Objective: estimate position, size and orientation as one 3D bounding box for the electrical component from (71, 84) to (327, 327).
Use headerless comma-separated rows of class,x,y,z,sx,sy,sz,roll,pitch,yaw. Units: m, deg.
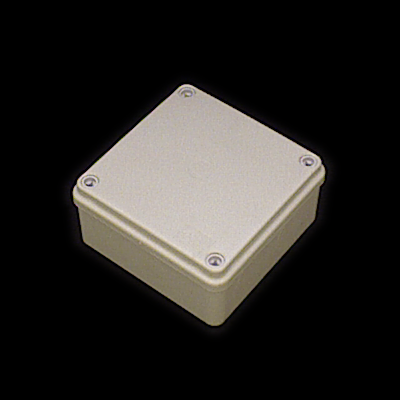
electrical component,0.000,0.000,0.631,0.108,0.056,0.108,31,58,22
